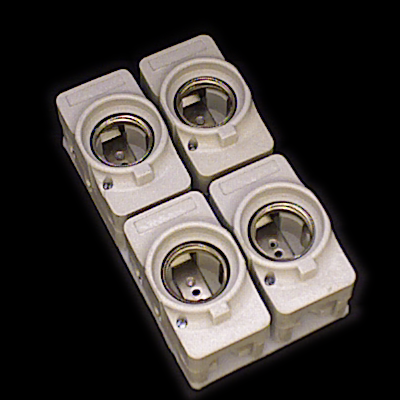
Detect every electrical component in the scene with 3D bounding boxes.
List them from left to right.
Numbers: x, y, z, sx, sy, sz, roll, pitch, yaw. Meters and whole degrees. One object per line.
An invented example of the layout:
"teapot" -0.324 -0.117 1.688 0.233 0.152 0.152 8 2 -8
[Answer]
"electrical component" 0.000 0.000 0.626 0.106 0.186 0.060 -24 -24 -12
